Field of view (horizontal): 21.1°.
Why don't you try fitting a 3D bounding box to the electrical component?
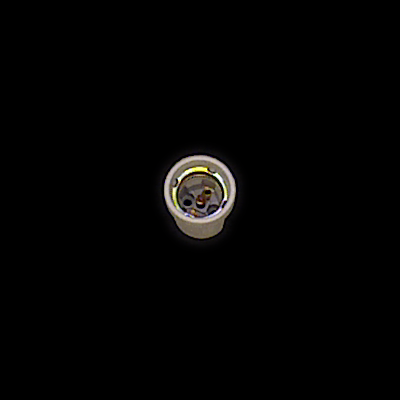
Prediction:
[{"bbox_3d":[0.000,0.000,0.627,0.040,0.040,0.046,0,-17,0],"label":"electrical component"}]
